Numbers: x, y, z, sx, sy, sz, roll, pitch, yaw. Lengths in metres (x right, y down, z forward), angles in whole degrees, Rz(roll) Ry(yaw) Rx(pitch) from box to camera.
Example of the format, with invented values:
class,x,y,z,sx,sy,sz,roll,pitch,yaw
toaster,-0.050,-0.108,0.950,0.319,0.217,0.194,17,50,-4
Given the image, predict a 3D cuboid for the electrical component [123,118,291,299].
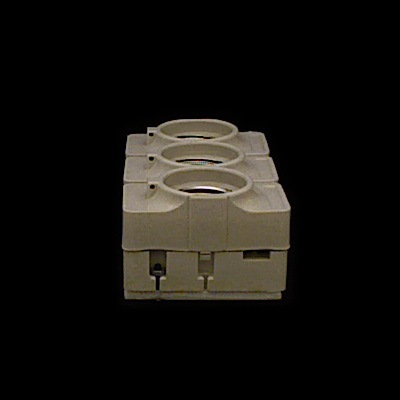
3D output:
class,x,y,z,sx,sy,sz,roll,pitch,yaw
electrical component,0.000,0.000,0.644,0.090,0.063,0.147,-1,20,-3
